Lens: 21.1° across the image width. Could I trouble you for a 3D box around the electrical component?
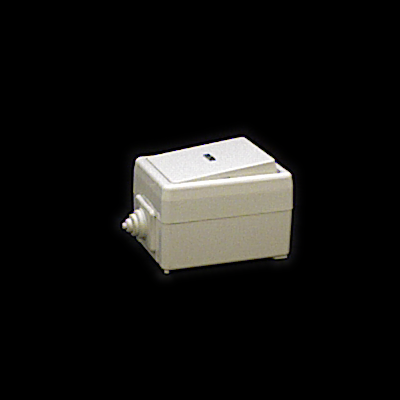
[{"bbox_3d":[0.000,0.000,0.638,0.096,0.061,0.061,-6,22,-19],"label":"electrical component"}]
